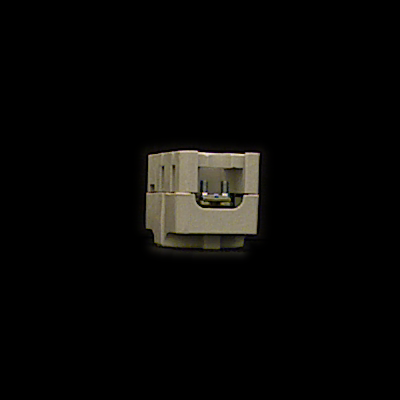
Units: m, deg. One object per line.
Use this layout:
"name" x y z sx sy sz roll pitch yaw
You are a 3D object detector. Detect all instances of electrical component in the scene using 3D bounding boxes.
"electrical component" 0.000 0.000 0.657 0.050 0.056 0.089 1 1 -16
